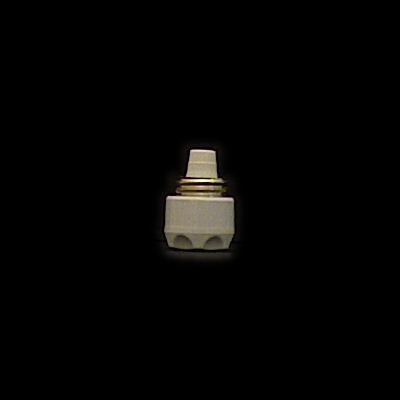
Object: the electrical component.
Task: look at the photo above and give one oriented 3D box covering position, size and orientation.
[{"bbox_3d":[0.000,0.000,0.656,0.043,0.062,0.043,3,2,0],"label":"electrical component"}]
